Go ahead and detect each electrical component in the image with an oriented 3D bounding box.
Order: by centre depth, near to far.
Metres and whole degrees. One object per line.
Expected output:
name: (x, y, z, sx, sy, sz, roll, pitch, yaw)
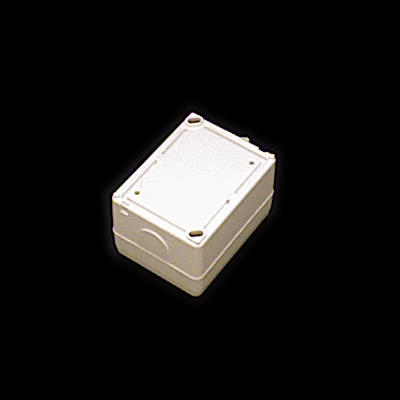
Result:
electrical component: (0.000, 0.000, 0.629, 0.061, 0.096, 0.061, 29, -33, 20)
